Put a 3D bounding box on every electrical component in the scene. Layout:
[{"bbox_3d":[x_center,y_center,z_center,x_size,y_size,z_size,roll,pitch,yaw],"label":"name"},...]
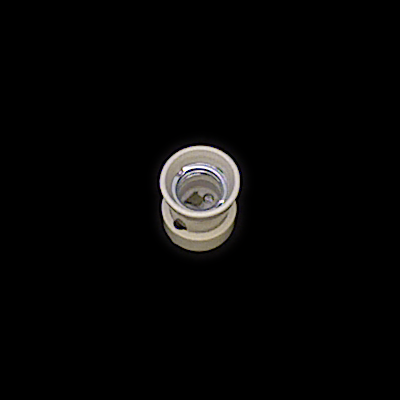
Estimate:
[{"bbox_3d":[0.000,0.000,0.628,0.045,0.045,0.055,0,-26,-1],"label":"electrical component"}]
